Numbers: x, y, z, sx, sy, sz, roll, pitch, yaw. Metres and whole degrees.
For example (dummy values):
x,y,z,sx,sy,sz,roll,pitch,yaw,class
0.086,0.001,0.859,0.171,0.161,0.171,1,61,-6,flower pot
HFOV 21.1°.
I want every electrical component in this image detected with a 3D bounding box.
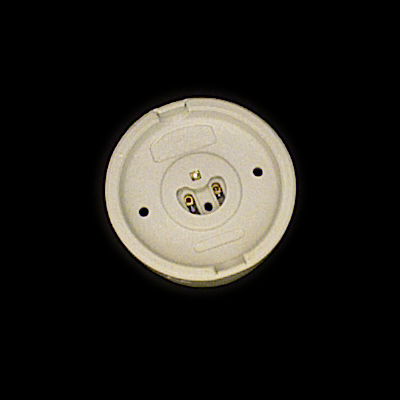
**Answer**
x,y,z,sx,sy,sz,roll,pitch,yaw,class
0.000,0.000,0.634,0.108,0.108,0.060,0,-16,0,electrical component
